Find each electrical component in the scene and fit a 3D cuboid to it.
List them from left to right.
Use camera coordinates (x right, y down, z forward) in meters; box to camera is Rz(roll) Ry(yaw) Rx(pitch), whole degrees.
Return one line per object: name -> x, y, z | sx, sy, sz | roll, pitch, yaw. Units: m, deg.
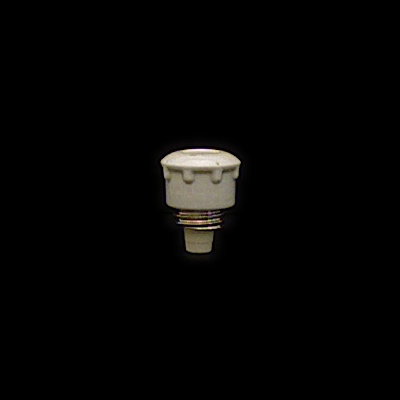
electrical component -> 0.000, 0.000, 0.650 | 0.048, 0.062, 0.048 | 1, 11, 0
